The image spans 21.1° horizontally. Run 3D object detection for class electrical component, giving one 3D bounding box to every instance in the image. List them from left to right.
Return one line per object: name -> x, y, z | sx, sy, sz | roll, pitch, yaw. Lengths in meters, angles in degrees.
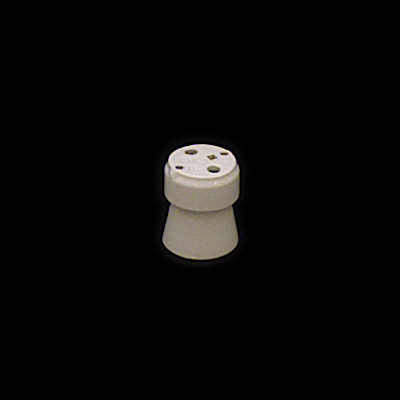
electrical component -> 0.000, 0.000, 0.634 | 0.045, 0.056, 0.044 | 1, 33, 0
